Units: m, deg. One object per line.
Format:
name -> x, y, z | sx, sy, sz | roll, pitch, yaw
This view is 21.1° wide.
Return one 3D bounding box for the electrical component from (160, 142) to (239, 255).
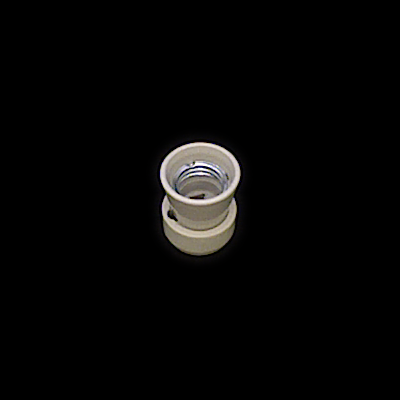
electrical component -> 0.000, 0.000, 0.629 | 0.045, 0.044, 0.055 | 0, -37, 0
